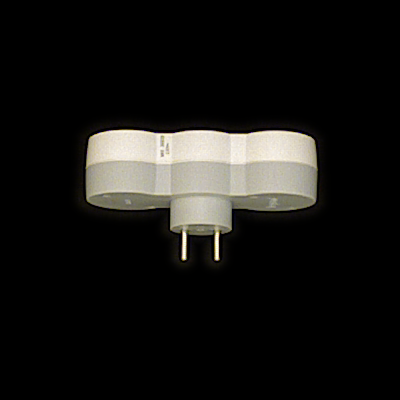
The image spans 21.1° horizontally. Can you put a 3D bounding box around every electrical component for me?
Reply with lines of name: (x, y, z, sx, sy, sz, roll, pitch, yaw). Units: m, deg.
electrical component: (0.000, 0.000, 0.637, 0.138, 0.074, 0.052, 1, -15, 0)
